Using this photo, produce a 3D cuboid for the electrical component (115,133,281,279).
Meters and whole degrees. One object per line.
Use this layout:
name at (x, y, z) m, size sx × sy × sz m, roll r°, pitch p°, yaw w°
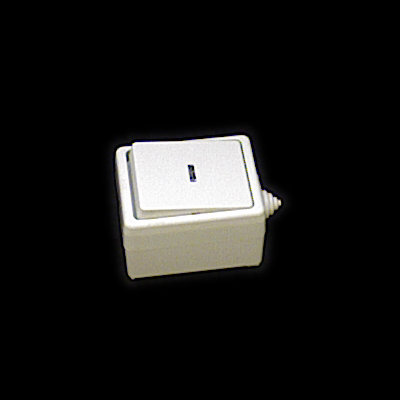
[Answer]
electrical component at (0.000, 0.000, 0.628) m, size 0.096 × 0.061 × 0.061 m, roll -6°, pitch -38°, yaw -5°
